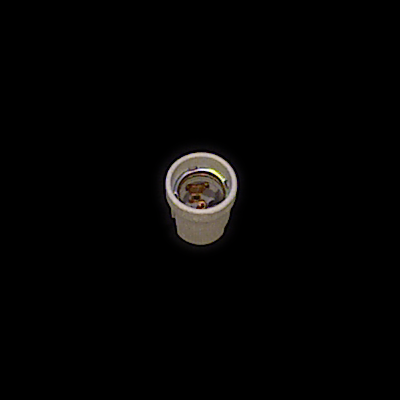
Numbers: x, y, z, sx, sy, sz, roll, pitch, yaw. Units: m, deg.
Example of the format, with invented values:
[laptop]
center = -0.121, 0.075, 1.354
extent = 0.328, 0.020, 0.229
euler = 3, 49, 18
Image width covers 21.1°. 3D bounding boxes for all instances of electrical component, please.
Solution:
[electrical component]
center = 0.000, 0.000, 0.628
extent = 0.040, 0.040, 0.046
euler = 0, -27, -1
